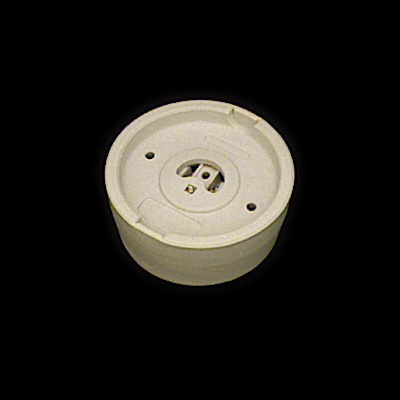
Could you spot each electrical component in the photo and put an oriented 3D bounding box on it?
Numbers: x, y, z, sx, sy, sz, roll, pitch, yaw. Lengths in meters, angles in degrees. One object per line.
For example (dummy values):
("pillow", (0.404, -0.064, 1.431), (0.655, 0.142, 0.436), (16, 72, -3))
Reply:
("electrical component", (0.000, 0.000, 0.633), (0.108, 0.107, 0.060), (0, -37, -1))
